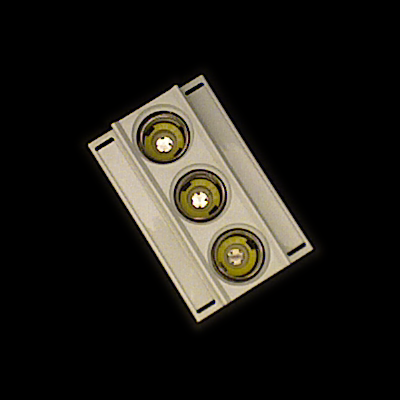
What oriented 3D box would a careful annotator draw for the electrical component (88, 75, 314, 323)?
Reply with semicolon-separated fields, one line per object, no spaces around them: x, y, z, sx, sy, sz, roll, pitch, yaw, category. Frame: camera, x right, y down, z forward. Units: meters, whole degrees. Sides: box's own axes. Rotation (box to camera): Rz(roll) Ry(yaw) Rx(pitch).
0.000;0.000;0.637;0.079;0.121;0.063;-32;-5;-4;electrical component
